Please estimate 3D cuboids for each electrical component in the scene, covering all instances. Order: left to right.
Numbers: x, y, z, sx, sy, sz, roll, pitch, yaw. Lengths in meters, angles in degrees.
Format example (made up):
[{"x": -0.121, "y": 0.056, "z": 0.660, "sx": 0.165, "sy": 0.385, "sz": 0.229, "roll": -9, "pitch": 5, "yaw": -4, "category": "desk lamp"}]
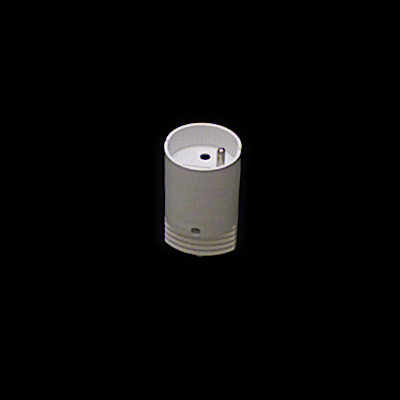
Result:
[{"x": 0.000, "y": 0.000, "z": 0.625, "sx": 0.043, "sy": 0.082, "sz": 0.042, "roll": 1, "pitch": 42, "yaw": -1, "category": "electrical component"}]
